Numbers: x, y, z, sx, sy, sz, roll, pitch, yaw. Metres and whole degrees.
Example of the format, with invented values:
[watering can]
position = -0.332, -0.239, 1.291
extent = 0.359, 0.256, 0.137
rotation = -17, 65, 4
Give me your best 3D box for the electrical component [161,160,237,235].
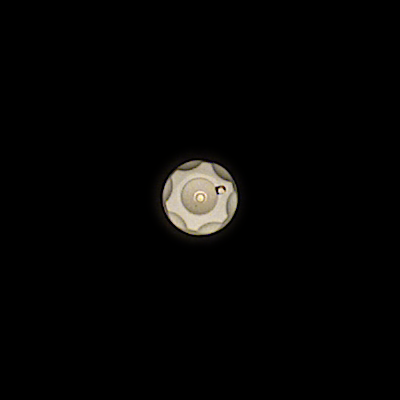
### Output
[electrical component]
position = 0.000, 0.000, 0.635
extent = 0.043, 0.043, 0.062
rotation = 0, -5, 2
